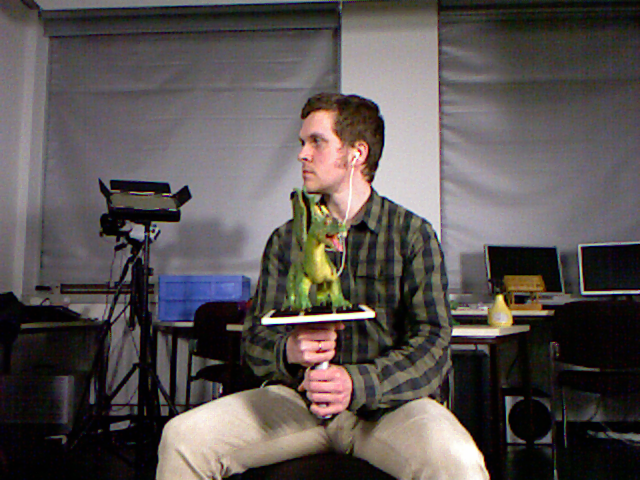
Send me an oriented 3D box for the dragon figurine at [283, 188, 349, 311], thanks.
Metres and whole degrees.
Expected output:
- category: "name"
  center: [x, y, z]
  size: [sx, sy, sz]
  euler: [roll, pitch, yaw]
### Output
- category: "dragon figurine"
  center: [-0.030, 0.015, 1.032]
  size: [0.122, 0.243, 0.409]
  euler: [-5, 0, -18]
